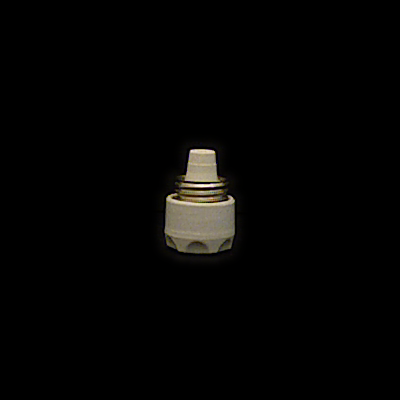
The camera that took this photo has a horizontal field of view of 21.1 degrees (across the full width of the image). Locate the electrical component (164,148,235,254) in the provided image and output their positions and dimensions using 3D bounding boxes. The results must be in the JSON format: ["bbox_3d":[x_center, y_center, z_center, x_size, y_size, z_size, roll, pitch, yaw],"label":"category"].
[{"bbox_3d":[0.000,0.000,0.652,0.043,0.062,0.043,2,11,0],"label":"electrical component"}]
